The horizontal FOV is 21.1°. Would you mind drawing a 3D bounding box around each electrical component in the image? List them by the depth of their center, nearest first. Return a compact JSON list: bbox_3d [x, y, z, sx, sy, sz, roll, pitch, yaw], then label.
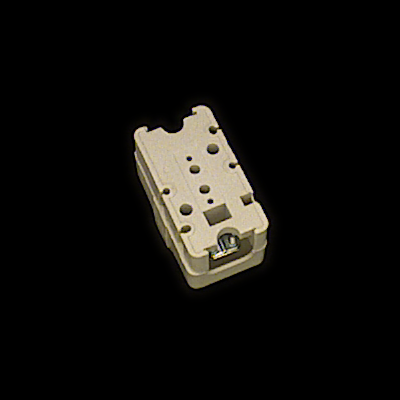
[{"bbox_3d":[0.000,0.000,0.636,0.050,0.089,0.055,-21,-24,-11],"label":"electrical component"}]
